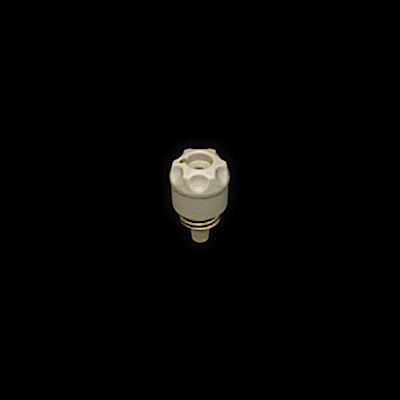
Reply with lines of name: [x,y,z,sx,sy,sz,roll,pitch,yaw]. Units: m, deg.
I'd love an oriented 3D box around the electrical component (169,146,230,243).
electrical component: [0.000,0.000,0.638,0.035,0.062,0.035,0,42,0]
